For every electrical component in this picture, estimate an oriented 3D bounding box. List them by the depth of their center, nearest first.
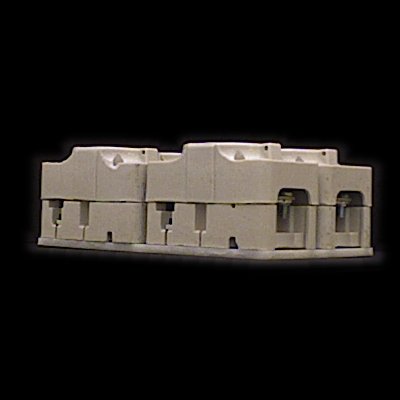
[{"bbox_3d":[0.000,0.000,0.650,0.186,0.060,0.106,1,0,42],"label":"electrical component"}]
